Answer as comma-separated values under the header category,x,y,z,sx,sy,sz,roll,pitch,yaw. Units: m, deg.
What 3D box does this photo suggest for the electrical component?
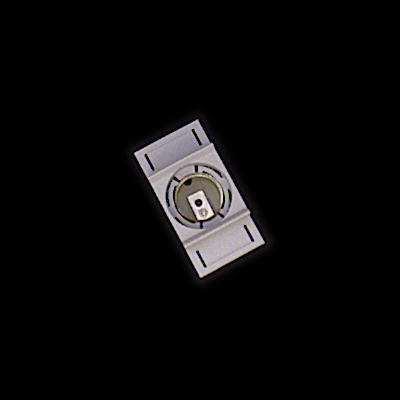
category,x,y,z,sx,sy,sz,roll,pitch,yaw
electrical component,0.000,0.000,0.624,0.042,0.081,0.063,-28,-6,-4
